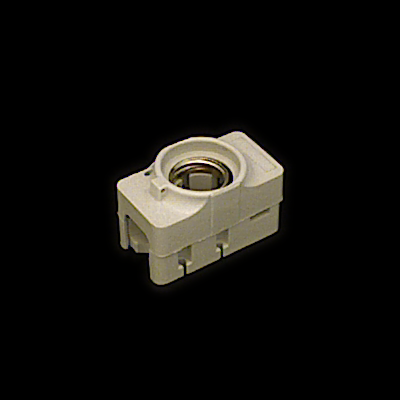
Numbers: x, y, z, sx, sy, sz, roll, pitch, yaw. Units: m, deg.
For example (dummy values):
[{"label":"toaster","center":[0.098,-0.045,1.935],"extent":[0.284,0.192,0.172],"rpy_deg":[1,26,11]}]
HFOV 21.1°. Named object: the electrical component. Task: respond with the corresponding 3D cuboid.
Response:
[{"label":"electrical component","center":[0.000,0.000,0.639],"extent":[0.090,0.056,0.049],"rpy_deg":[-25,48,-25]}]
